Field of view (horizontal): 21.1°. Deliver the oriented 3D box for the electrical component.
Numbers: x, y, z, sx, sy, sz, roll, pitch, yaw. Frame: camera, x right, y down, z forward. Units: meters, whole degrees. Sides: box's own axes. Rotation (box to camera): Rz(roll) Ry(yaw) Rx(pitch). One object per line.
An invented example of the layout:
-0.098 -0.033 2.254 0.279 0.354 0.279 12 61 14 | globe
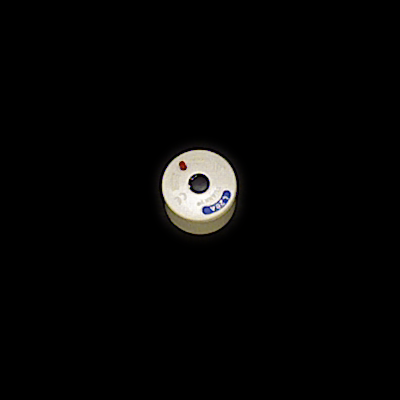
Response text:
0.000 0.000 0.617 0.040 0.040 0.078 0 -17 1 | electrical component
